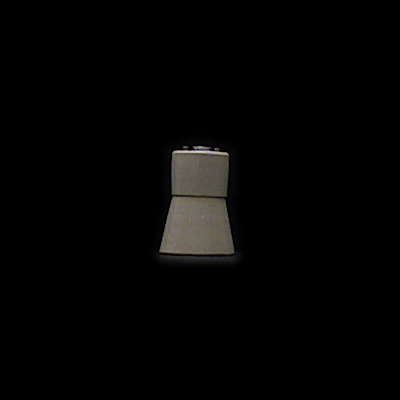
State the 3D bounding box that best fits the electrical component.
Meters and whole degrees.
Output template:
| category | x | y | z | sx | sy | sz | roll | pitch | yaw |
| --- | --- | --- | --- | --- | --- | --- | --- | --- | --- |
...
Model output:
| category | x | y | z | sx | sy | sz | roll | pitch | yaw |
| --- | --- | --- | --- | --- | --- | --- | --- | --- | --- |
| electrical component | 0.000 | 0.000 | 0.648 | 0.044 | 0.065 | 0.044 | 2 | 2 | 0 |
